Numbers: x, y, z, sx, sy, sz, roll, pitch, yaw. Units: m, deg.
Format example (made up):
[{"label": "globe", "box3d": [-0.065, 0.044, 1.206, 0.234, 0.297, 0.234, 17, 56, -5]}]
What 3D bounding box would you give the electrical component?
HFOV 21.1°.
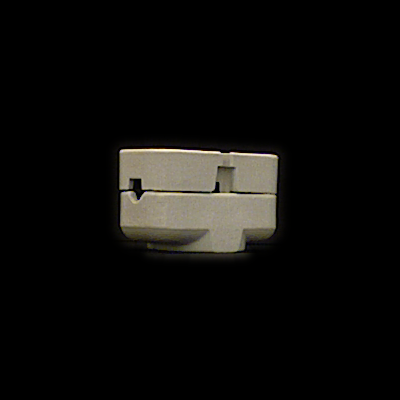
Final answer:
[{"label": "electrical component", "box3d": [0.000, 0.000, 0.657, 0.096, 0.059, 0.053, 0, 2, -38]}]
